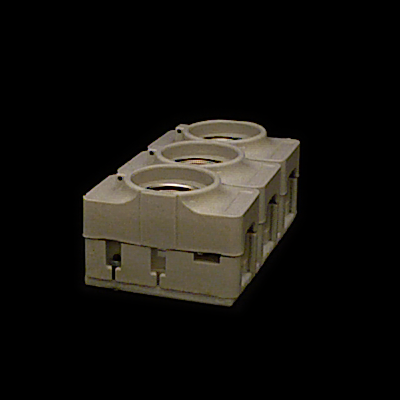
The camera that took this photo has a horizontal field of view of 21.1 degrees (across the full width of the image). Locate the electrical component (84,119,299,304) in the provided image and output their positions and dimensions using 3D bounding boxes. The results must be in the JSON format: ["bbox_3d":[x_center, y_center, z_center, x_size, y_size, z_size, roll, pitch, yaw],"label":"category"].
[{"bbox_3d":[0.000,0.000,0.645,0.089,0.063,0.148,7,20,16],"label":"electrical component"}]
